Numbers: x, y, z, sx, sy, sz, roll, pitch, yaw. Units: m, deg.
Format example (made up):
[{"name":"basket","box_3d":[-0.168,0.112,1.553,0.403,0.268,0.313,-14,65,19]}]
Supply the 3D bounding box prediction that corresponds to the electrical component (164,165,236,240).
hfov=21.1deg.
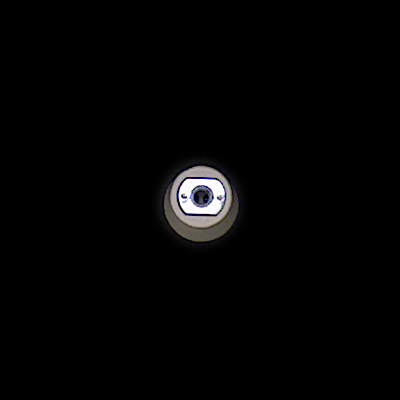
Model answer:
[{"name":"electrical component","box_3d":[0.000,0.000,0.626,0.044,0.044,0.065,0,-5,0]}]
